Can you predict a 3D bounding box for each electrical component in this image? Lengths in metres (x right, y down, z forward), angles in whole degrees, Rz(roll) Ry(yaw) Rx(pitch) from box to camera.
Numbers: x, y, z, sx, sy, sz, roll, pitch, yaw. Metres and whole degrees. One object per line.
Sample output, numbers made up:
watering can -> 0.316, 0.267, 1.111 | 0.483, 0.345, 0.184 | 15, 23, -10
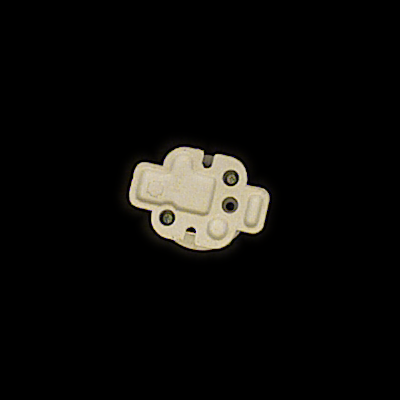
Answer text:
electrical component -> 0.000, 0.000, 0.637 | 0.078, 0.058, 0.057 | 12, -4, 3
